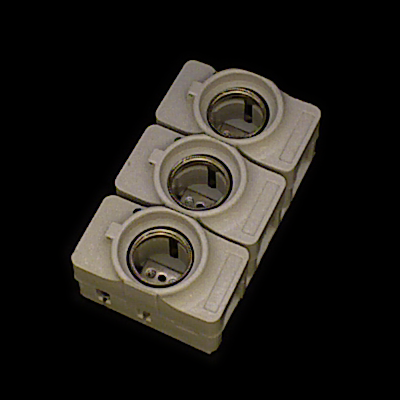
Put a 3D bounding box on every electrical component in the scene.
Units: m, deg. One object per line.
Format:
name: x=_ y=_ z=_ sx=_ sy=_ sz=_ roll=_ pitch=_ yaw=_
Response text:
electrical component: x=0.000 y=0.000 z=0.631 sx=0.089 sy=0.149 sz=0.062 roll=23 pitch=-25 yaw=12
